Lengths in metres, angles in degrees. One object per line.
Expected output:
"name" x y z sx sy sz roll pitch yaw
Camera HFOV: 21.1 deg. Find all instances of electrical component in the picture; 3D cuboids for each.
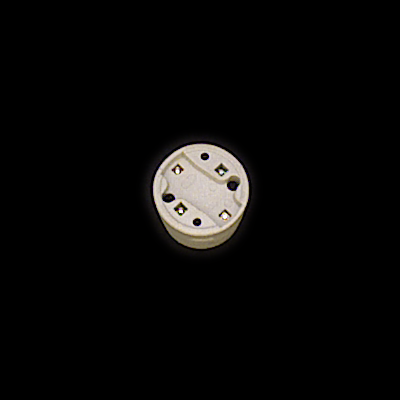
"electrical component" 0.000 0.000 0.635 0.055 0.056 0.047 0 -17 1
